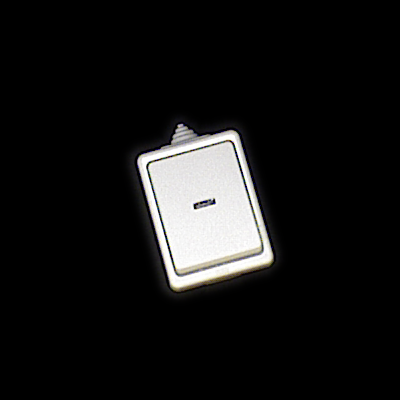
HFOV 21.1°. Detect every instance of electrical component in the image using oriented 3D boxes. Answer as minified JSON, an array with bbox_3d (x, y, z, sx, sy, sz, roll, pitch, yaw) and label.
[{"bbox_3d":[0.000,0.000,0.627,0.062,0.096,0.061,-15,-7,-1],"label":"electrical component"}]
